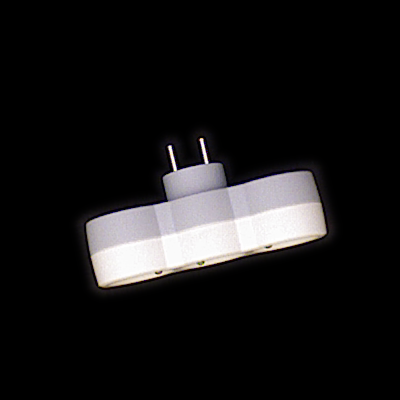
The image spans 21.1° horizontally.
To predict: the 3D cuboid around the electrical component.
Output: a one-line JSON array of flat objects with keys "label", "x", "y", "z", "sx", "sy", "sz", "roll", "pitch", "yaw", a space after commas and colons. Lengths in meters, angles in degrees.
[{"label": "electrical component", "x": 0.000, "y": 0.000, "z": 0.631, "sx": 0.138, "sy": 0.074, "sz": 0.052, "roll": -13, "pitch": -8, "yaw": -1}]
